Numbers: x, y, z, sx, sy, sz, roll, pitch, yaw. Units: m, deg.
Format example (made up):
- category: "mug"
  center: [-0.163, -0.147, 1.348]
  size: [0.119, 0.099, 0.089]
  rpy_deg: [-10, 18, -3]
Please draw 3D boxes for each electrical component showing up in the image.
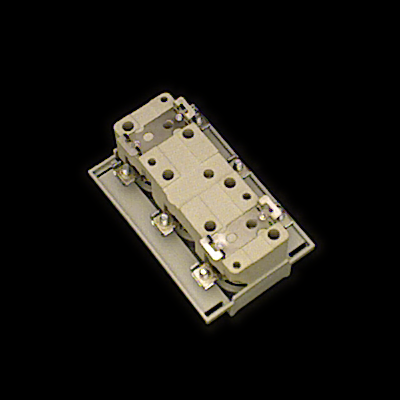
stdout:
- category: "electrical component"
  center: [0.000, 0.000, 0.632]
  size: [0.079, 0.121, 0.063]
  rpy_deg: [-34, -22, -15]
